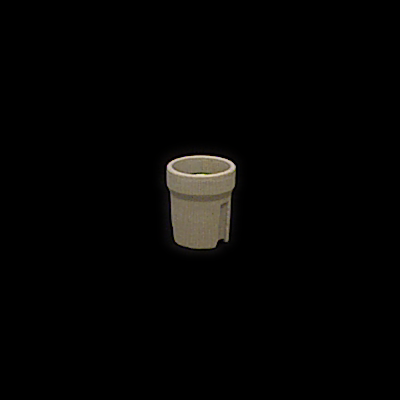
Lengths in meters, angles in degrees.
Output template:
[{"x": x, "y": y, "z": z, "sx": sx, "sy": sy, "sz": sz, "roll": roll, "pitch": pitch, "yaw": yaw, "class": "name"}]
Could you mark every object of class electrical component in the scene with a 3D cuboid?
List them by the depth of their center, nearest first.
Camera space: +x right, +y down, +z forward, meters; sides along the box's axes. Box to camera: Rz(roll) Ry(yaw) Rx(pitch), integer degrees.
[{"x": 0.000, "y": 0.000, "z": 0.641, "sx": 0.040, "sy": 0.047, "sz": 0.039, "roll": 1, "pitch": 21, "yaw": 0, "class": "electrical component"}]
